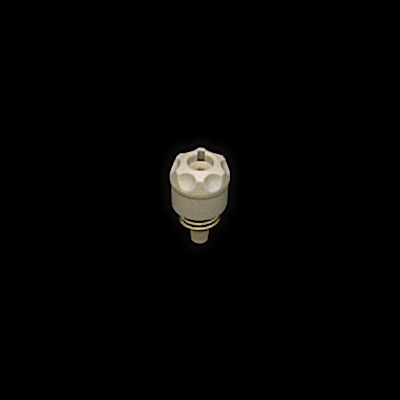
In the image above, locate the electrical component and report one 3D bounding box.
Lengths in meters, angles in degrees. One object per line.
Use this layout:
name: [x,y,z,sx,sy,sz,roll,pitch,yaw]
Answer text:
electrical component: [0.000,0.000,0.639,0.035,0.062,0.035,1,42,0]
